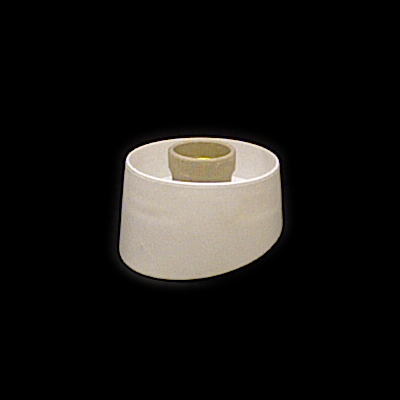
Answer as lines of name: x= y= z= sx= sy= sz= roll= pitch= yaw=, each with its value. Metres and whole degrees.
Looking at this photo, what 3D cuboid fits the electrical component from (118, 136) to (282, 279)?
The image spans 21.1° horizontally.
electrical component: x=0.000 y=0.000 z=0.639 sx=0.099 sy=0.065 sz=0.097 roll=1 pitch=21 yaw=0
